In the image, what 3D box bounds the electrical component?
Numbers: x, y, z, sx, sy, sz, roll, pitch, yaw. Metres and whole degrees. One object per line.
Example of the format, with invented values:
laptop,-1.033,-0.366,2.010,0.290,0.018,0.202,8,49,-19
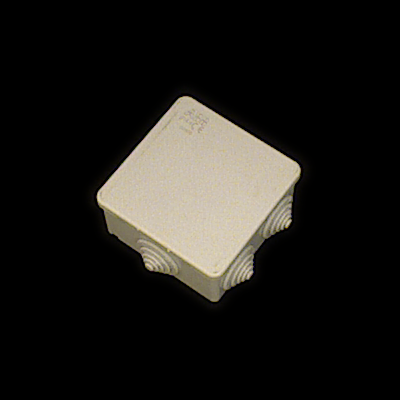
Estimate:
electrical component,0.000,0.000,0.640,0.099,0.100,0.048,33,-22,15
